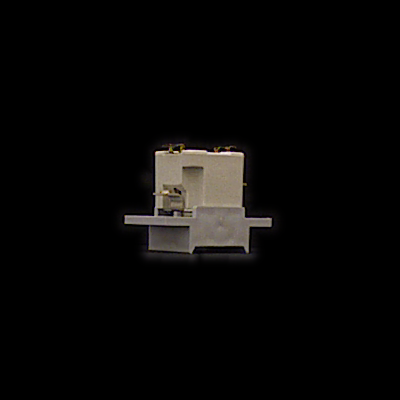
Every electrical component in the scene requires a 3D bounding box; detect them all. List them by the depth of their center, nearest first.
[{"bbox_3d":[0.000,0.000,0.649,0.081,0.064,0.042,1,1,-39],"label":"electrical component"}]
